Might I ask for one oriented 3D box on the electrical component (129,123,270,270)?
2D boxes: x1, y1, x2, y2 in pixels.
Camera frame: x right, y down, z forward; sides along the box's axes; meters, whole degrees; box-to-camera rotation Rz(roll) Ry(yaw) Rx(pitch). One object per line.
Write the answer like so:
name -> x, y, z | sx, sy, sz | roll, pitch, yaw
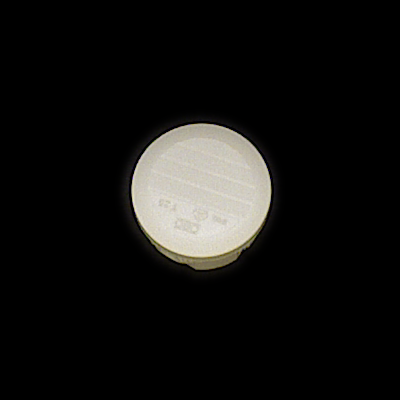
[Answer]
electrical component -> 0.000, 0.000, 0.630 | 0.080, 0.080, 0.050 | 0, -17, 0
